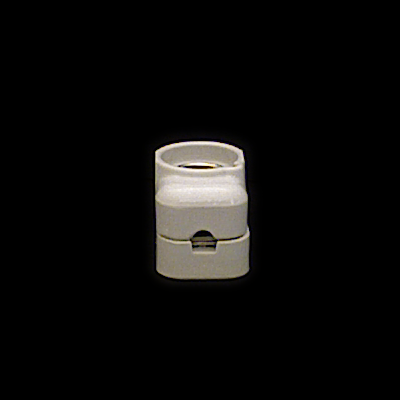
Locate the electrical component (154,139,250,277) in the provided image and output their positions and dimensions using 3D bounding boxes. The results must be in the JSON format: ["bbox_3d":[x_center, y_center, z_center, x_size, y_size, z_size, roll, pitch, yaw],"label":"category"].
[{"bbox_3d":[0.000,0.000,0.646,0.054,0.060,0.094,-1,22,-3],"label":"electrical component"}]
